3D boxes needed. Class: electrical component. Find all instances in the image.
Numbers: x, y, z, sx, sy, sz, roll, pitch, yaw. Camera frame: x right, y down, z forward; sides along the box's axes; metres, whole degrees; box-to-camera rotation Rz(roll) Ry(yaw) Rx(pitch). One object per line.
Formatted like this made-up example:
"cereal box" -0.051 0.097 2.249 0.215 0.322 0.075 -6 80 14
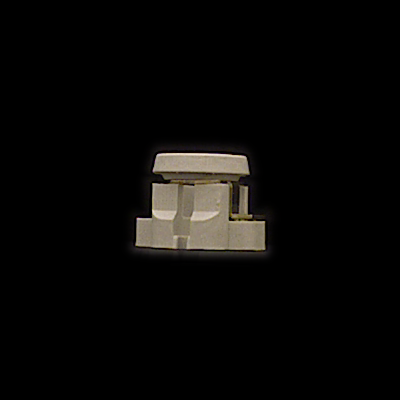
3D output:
"electrical component" 0.000 0.000 0.650 0.078 0.057 0.058 2 1 24
